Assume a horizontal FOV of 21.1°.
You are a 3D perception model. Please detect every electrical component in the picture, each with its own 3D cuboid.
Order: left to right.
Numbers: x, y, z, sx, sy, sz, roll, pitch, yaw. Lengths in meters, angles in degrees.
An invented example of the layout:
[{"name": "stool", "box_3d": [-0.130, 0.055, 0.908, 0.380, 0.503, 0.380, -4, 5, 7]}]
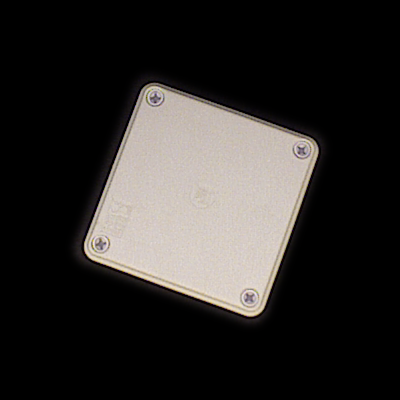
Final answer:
[{"name": "electrical component", "box_3d": [0.000, 0.000, 0.631, 0.109, 0.109, 0.056, 20, -6, 2]}]
